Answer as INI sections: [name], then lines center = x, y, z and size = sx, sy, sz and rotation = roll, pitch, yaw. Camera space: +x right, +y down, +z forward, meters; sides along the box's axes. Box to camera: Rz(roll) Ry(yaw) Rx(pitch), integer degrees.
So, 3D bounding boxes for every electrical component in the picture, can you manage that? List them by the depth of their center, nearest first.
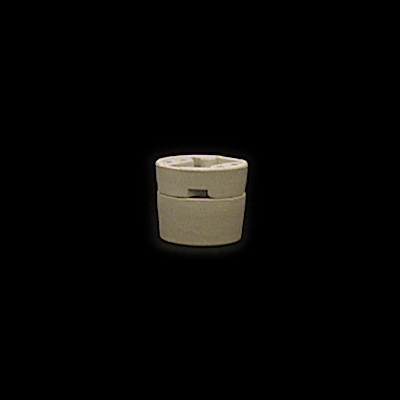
[electrical component]
center = 0.000, 0.000, 0.644
size = 0.055, 0.047, 0.055
rotation = 1, 10, 0
